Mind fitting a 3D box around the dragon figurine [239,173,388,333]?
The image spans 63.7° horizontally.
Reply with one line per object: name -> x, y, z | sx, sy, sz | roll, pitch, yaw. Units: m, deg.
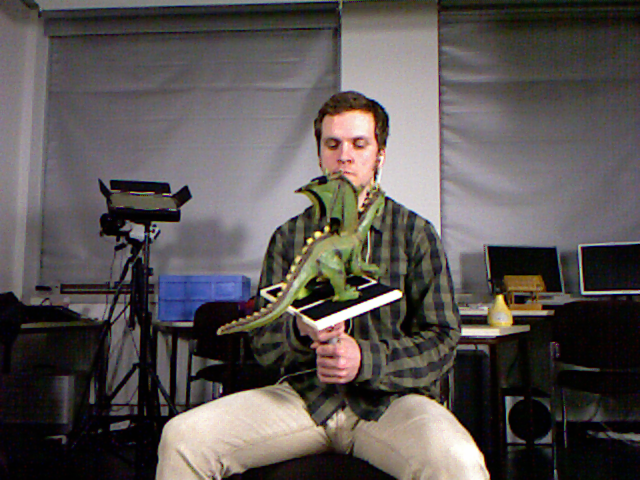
dragon figurine -> 0.007, -0.006, 0.955 | 0.123, 0.239, 0.416 | 15, 27, 38
